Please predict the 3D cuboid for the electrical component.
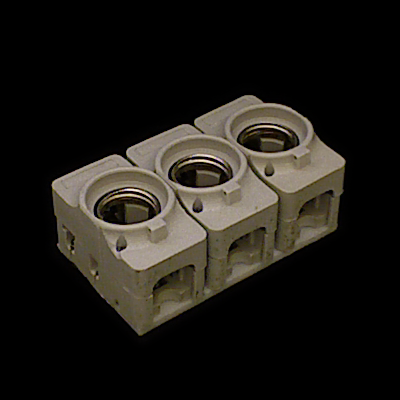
[{"bbox_3d":[0.000,0.000,0.636,0.149,0.063,0.088,-27,49,-27],"label":"electrical component"}]
